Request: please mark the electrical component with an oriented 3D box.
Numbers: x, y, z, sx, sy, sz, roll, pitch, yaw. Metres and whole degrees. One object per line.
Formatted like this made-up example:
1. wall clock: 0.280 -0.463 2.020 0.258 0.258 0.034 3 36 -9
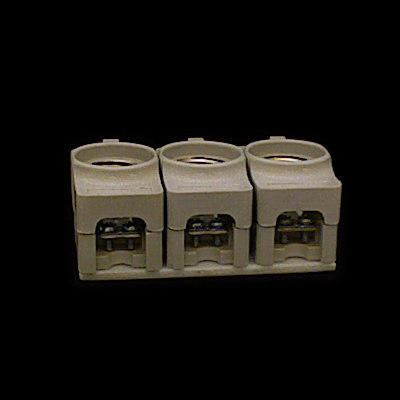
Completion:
1. electrical component: 0.000 0.000 0.646 0.150 0.063 0.088 -1 20 -8
